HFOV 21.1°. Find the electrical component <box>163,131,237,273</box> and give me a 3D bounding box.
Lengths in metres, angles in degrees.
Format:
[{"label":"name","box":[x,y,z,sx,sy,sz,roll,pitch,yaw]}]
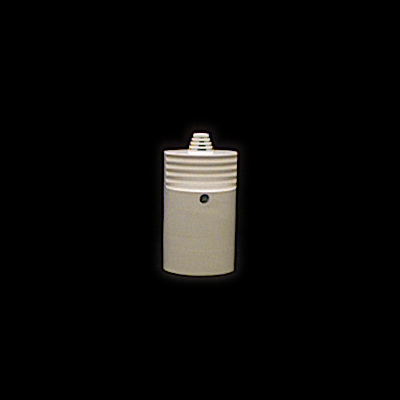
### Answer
[{"label":"electrical component","box":[0.000,0.000,0.642,0.043,0.081,0.043,1,11,0]}]
